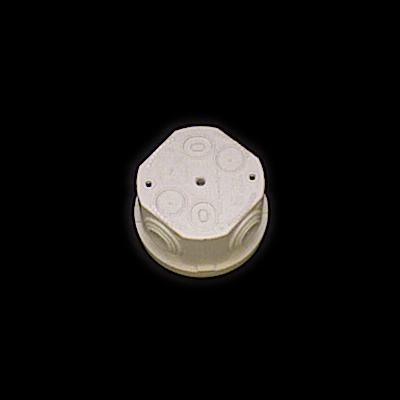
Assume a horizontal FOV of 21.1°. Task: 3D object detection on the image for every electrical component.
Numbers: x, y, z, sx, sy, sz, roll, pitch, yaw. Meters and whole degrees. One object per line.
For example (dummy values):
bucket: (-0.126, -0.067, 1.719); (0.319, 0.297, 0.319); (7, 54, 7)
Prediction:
electrical component: (0.000, 0.000, 0.631); (0.080, 0.080, 0.050); (0, -27, 1)
